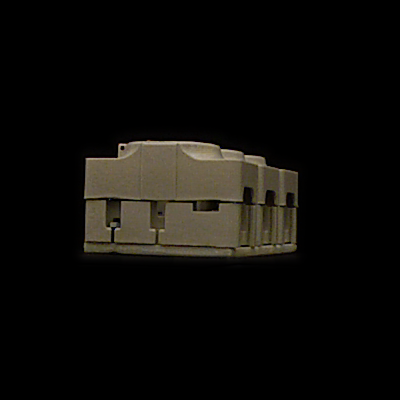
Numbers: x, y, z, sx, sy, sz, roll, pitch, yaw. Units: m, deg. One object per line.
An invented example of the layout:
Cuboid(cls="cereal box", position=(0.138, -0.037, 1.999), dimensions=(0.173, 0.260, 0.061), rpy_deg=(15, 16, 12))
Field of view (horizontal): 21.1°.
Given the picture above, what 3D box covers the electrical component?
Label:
Cuboid(cls="electrical component", position=(0.000, 0.000, 0.656), dimensions=(0.089, 0.062, 0.150), rpy_deg=(1, -1, 17))
